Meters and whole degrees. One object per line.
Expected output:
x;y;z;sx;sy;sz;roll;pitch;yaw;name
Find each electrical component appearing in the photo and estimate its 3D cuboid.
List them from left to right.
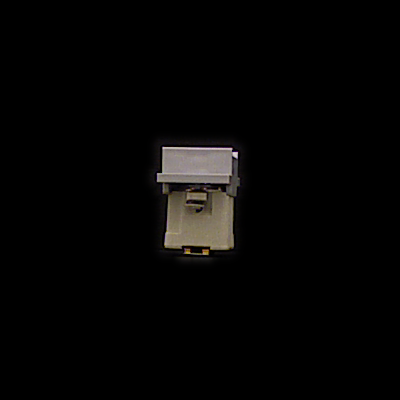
0.000;0.000;0.652;0.042;0.064;0.081;0;1;7;electrical component
